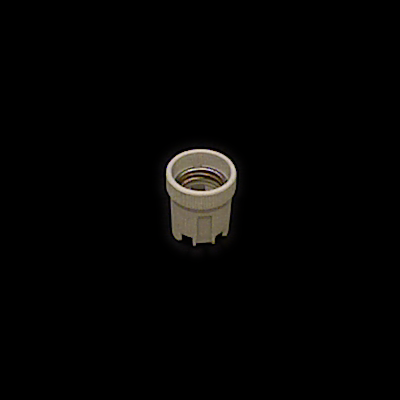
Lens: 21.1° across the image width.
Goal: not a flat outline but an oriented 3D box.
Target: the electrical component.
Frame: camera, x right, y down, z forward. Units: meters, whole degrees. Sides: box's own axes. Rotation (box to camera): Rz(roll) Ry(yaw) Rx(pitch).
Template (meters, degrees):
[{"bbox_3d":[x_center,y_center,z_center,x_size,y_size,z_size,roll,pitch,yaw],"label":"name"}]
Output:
[{"bbox_3d":[0.000,0.000,0.631,0.040,0.047,0.039,1,42,0],"label":"electrical component"}]
